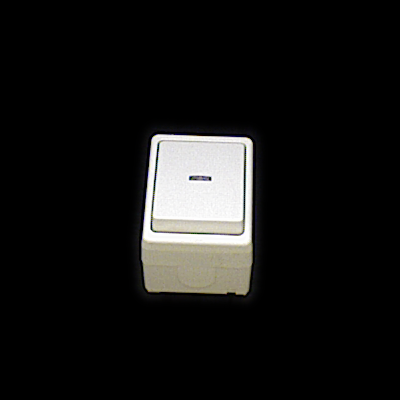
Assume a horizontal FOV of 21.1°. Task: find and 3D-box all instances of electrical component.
[{"bbox_3d":[0.000,0.000,0.629,0.062,0.096,0.061,2,-38,1],"label":"electrical component"}]
